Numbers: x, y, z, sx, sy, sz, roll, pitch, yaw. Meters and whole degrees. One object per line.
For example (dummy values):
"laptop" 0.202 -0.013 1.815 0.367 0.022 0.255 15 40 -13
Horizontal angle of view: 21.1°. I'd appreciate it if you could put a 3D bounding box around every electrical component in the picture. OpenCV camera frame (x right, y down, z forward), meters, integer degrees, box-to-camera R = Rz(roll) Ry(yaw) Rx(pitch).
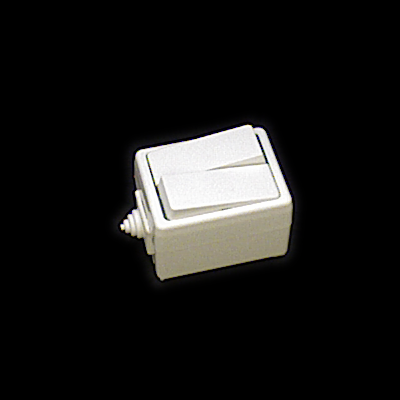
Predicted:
"electrical component" 0.000 0.000 0.628 0.096 0.061 0.061 -11 -37 -9
